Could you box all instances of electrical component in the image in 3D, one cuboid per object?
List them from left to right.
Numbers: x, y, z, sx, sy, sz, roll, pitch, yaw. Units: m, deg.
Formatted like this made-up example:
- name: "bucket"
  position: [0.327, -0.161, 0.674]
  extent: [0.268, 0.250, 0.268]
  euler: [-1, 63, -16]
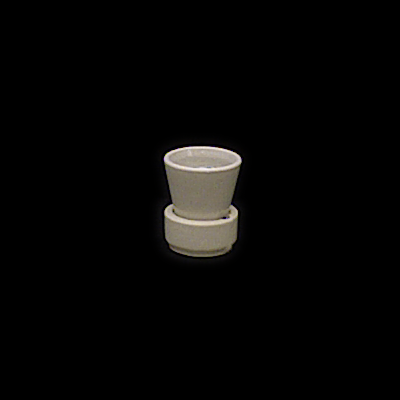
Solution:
- name: "electrical component"
  position: [0.000, 0.000, 0.641]
  extent: [0.045, 0.056, 0.044]
  euler: [2, 21, 0]
